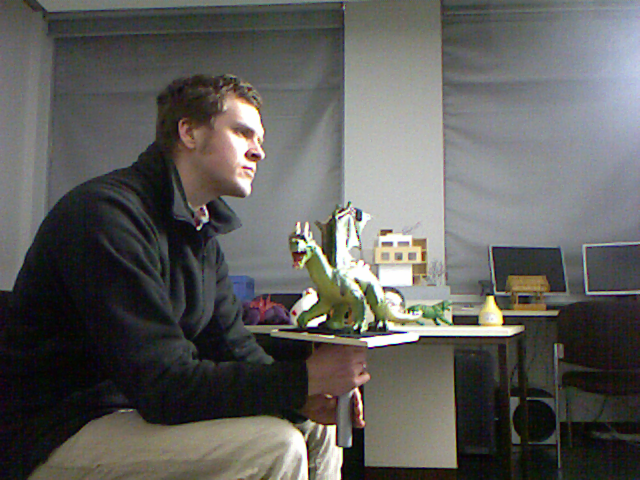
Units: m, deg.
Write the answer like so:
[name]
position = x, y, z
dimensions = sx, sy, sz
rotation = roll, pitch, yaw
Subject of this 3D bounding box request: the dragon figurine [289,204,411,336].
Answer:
[dragon figurine]
position = 0.069, 0.051, 0.983
dimensions = 0.122, 0.244, 0.410
rotation = 0, -3, 36
